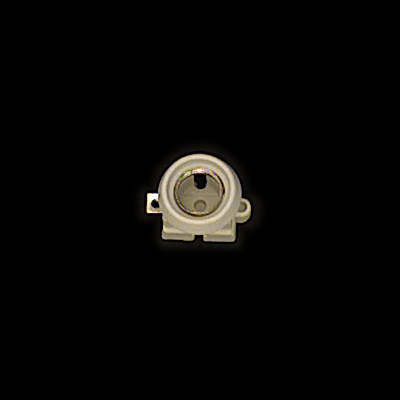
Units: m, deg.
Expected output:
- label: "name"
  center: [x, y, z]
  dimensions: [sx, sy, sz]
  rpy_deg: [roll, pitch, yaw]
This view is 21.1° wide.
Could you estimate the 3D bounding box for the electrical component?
- label: "electrical component"
  center: [0.000, 0.000, 0.637]
  dimensions: [0.066, 0.048, 0.055]
  rpy_deg: [1, -18, 0]
